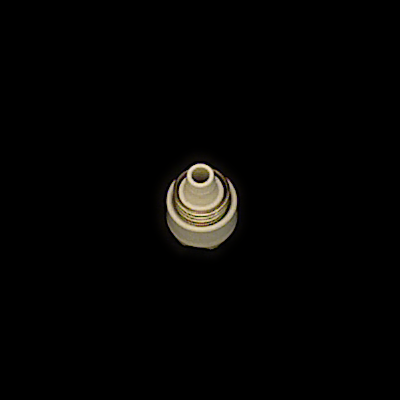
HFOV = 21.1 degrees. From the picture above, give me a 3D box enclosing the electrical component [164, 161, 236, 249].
[{"bbox_3d":[0.000,0.000,0.634,0.043,0.043,0.062,0,-28,1],"label":"electrical component"}]
